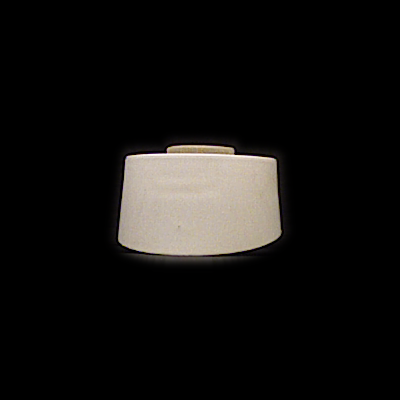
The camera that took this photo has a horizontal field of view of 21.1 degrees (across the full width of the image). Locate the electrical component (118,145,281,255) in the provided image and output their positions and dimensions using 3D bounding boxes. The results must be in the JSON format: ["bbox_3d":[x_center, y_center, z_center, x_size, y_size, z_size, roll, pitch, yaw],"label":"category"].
[{"bbox_3d":[0.000,0.000,0.650,0.099,0.064,0.099,1,0,0],"label":"electrical component"}]
